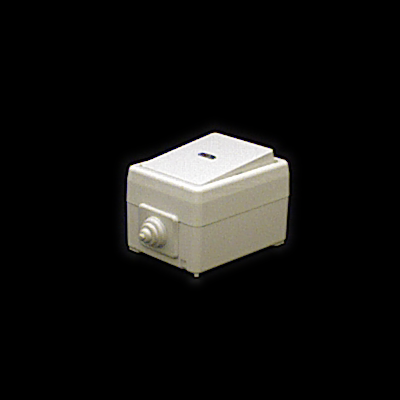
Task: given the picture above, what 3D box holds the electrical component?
[{"bbox_3d":[0.000,0.000,0.637,0.061,0.061,0.096,20,28,41],"label":"electrical component"}]
